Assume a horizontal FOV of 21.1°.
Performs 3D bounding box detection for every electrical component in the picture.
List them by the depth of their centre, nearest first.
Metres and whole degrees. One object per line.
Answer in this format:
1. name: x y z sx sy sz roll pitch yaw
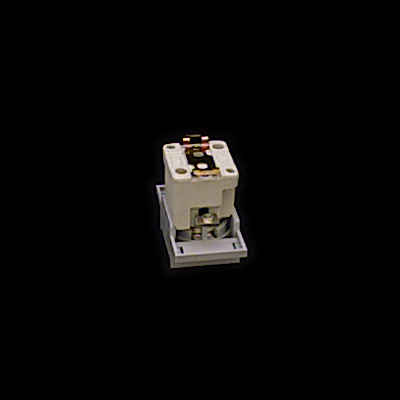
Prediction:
1. electrical component: 0.000 0.000 0.633 0.042 0.064 0.079 -5 32 -9
